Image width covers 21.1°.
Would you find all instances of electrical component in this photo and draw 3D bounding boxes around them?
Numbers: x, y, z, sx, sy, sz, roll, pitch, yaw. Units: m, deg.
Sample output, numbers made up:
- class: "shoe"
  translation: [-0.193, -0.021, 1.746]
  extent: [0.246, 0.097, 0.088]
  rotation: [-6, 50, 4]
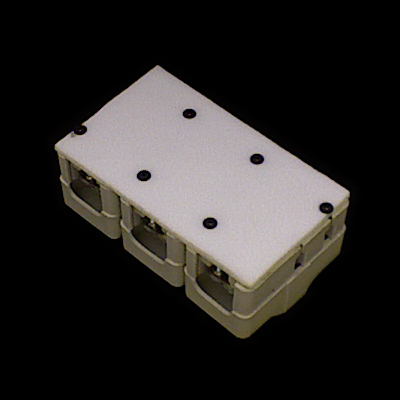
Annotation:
- class: "electrical component"
  translation: [0.000, 0.000, 0.633]
  extent: [0.149, 0.062, 0.089]
  rotation: [36, 60, 23]
